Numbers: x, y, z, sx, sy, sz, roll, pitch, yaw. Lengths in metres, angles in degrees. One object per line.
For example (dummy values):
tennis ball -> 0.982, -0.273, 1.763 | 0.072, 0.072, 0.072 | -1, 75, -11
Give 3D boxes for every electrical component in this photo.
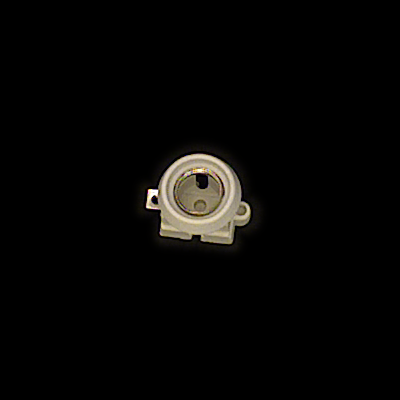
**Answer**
electrical component -> 0.000, 0.000, 0.637 | 0.066, 0.048, 0.055 | 6, -18, 2
